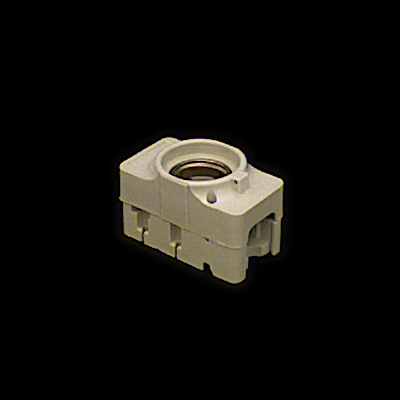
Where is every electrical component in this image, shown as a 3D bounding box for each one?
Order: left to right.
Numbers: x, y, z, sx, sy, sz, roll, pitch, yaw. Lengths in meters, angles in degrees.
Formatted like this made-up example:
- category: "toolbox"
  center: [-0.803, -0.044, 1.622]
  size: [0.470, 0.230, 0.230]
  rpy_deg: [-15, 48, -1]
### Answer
- category: "electrical component"
  center: [0.000, 0.000, 0.642]
  size: [0.088, 0.056, 0.050]
  rpy_deg: [22, 38, 30]
